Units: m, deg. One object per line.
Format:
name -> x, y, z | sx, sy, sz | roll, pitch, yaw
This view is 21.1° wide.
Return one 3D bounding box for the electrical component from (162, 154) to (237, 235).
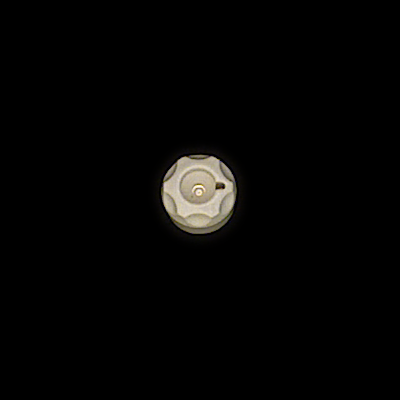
electrical component -> 0.000, 0.000, 0.634 | 0.043, 0.043, 0.061 | 0, -15, 1
